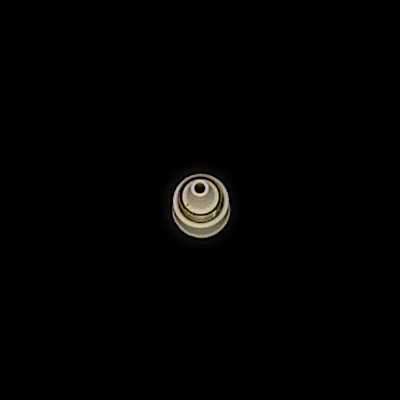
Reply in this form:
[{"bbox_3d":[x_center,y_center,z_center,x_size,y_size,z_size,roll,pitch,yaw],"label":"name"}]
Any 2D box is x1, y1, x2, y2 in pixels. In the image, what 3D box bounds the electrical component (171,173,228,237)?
[{"bbox_3d":[0.000,0.000,0.637,0.035,0.035,0.061,0,-15,1],"label":"electrical component"}]
